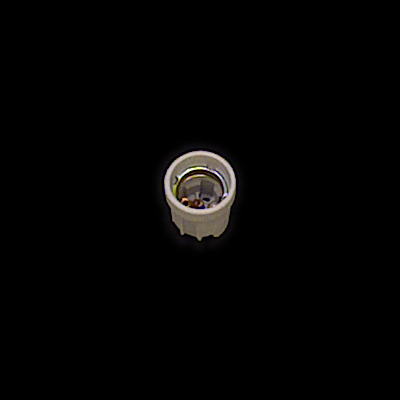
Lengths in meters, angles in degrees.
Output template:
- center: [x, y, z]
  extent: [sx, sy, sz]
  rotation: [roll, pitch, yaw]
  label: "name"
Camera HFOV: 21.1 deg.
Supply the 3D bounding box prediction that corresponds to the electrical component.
- center: [0.000, 0.000, 0.627]
  extent: [0.040, 0.040, 0.046]
  rotation: [0, -27, 0]
  label: "electrical component"
